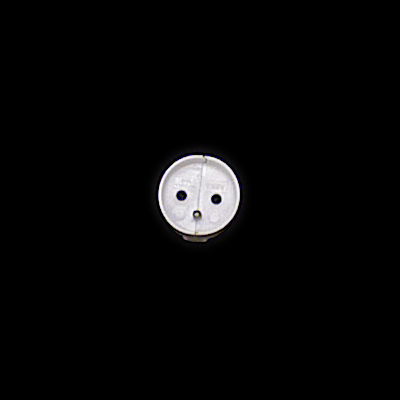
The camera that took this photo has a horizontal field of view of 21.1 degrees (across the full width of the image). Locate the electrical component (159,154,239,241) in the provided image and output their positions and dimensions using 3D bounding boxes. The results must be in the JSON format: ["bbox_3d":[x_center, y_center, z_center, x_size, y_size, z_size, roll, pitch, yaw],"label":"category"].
[{"bbox_3d":[0.000,0.000,0.615,0.043,0.043,0.080,0,-5,1],"label":"electrical component"}]
